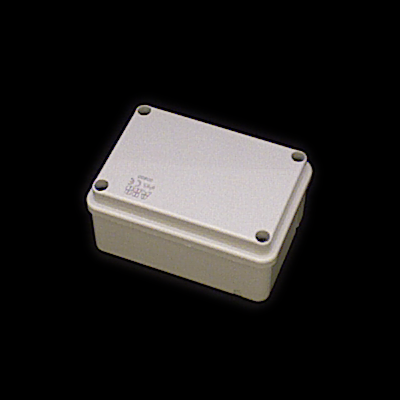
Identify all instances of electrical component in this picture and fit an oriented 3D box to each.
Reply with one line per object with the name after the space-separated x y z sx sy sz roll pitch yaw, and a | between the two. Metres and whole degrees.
0.000 0.000 0.627 0.113 0.078 0.057 18 -36 12 | electrical component
